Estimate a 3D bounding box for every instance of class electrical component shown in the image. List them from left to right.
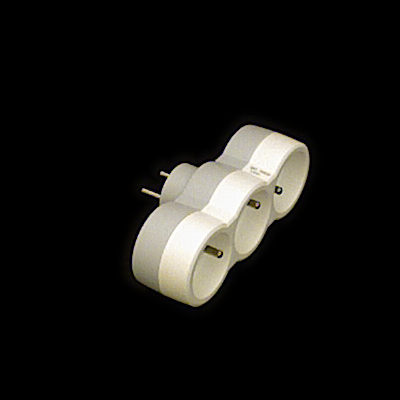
[{"bbox_3d":[0.000,0.000,0.643,0.073,0.053,0.138,24,47,25],"label":"electrical component"}]
